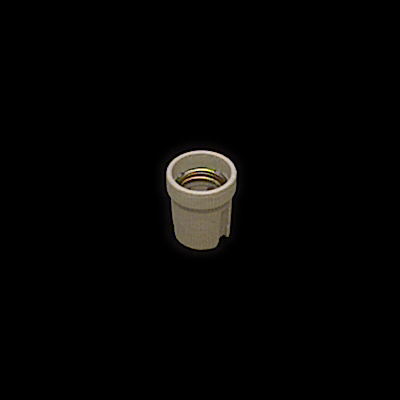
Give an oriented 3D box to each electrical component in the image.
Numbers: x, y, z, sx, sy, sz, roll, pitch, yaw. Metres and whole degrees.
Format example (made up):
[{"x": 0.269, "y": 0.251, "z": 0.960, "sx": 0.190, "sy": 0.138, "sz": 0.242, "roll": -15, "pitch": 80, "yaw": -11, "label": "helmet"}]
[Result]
[{"x": 0.000, "y": 0.000, "z": 0.634, "sx": 0.040, "sy": 0.047, "sz": 0.039, "roll": 1, "pitch": 42, "yaw": 0, "label": "electrical component"}]
